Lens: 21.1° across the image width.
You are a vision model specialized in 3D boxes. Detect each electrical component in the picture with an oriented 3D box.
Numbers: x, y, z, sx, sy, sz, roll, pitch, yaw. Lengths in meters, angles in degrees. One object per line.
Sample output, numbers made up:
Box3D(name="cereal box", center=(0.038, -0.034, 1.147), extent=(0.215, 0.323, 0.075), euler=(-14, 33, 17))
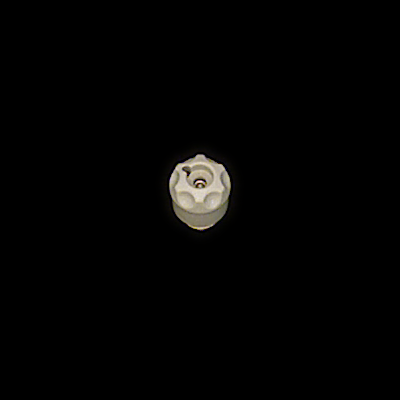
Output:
Box3D(name="electrical component", center=(0.000, 0.000, 0.634), extent=(0.035, 0.035, 0.061), euler=(0, -27, 0))
